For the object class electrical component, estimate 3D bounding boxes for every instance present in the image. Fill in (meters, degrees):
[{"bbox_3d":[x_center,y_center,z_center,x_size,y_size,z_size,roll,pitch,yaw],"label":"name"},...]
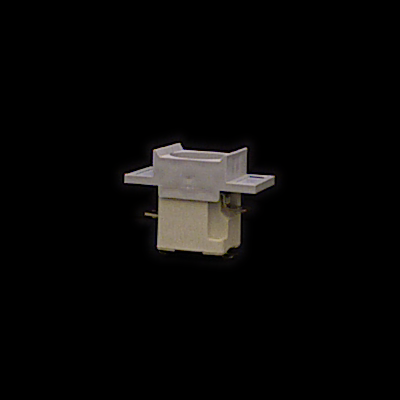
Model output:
[{"bbox_3d":[0.000,0.000,0.644,0.080,0.064,0.042,5,13,18],"label":"electrical component"}]
